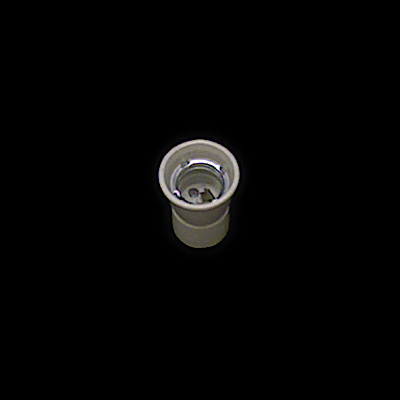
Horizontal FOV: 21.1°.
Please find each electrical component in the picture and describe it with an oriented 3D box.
[{"bbox_3d":[0.000,0.000,0.625,0.044,0.044,0.065,0,-28,1],"label":"electrical component"}]
